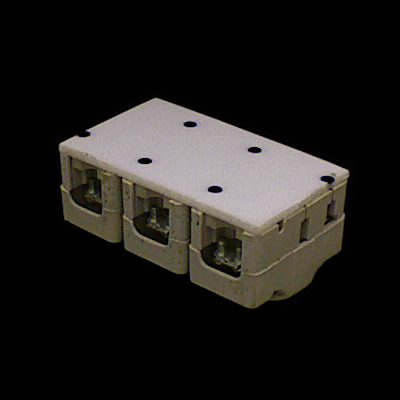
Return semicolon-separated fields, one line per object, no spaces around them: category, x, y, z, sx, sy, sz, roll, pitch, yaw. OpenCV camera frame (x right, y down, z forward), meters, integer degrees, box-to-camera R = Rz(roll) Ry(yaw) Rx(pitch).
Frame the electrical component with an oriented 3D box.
electrical component;0.000;0.000;0.640;0.148;0.063;0.089;24;38;33
